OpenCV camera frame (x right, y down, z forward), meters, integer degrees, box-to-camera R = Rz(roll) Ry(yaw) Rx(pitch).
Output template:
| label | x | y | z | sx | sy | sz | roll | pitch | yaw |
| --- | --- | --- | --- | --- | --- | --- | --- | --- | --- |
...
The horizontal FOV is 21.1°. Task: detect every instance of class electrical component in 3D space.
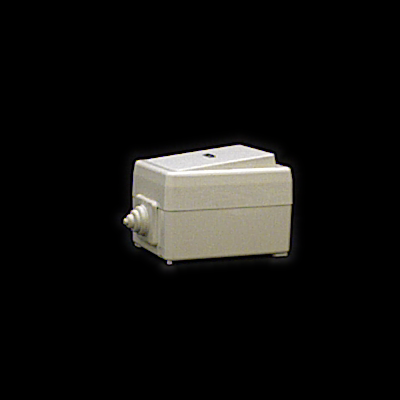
| label | x | y | z | sx | sy | sz | roll | pitch | yaw |
| --- | --- | --- | --- | --- | --- | --- | --- | --- | --- |
| electrical component | 0.000 | 0.000 | 0.643 | 0.096 | 0.061 | 0.061 | -3 | 11 | -23 |
